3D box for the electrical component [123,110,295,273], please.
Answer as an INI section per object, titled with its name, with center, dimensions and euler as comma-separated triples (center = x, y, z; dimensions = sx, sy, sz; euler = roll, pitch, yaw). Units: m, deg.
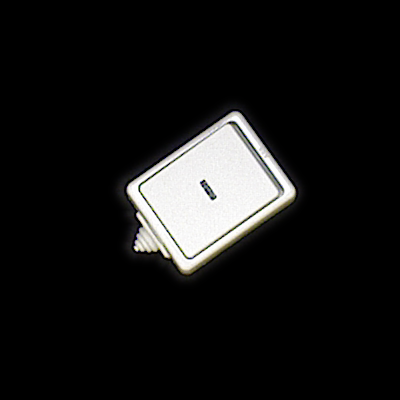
[electrical component]
center = 0.000, 0.000, 0.626
dimensions = 0.096, 0.062, 0.061
euler = -35, -6, -4
